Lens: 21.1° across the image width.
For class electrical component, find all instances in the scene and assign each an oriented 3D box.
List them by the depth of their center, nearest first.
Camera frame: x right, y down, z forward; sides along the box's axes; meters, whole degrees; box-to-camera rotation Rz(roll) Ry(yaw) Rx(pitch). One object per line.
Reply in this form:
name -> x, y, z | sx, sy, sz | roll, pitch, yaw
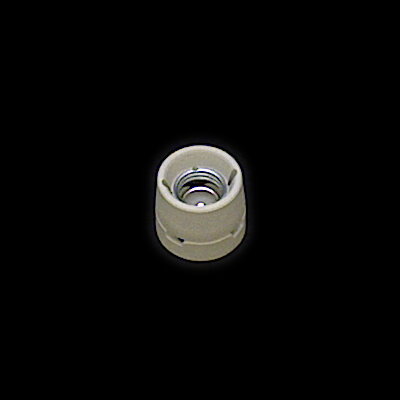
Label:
electrical component -> 0.000, 0.000, 0.634 | 0.055, 0.055, 0.047 | 0, -38, 1
